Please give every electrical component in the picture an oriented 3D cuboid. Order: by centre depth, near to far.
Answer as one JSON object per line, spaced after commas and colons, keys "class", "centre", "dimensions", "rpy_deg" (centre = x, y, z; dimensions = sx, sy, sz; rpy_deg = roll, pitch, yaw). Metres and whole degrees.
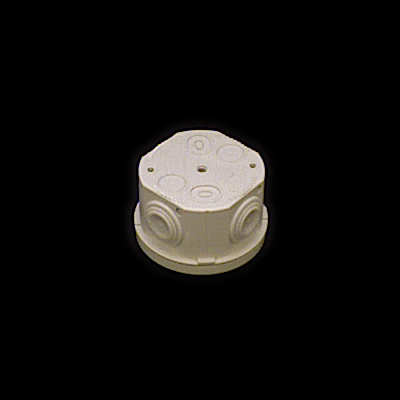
{"class": "electrical component", "centre": [0.000, 0.000, 0.634], "dimensions": [0.080, 0.051, 0.080], "rpy_deg": [1, 42, -1]}
